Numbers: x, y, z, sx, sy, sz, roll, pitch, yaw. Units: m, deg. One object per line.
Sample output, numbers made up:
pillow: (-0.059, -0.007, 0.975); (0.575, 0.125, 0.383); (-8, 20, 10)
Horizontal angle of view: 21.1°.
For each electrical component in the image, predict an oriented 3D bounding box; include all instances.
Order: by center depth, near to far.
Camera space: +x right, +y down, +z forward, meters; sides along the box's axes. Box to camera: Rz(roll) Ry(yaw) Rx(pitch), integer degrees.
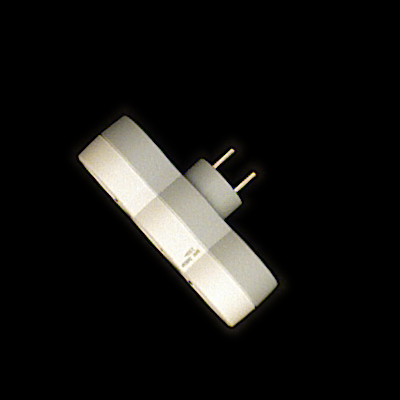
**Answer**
electrical component: (0.000, 0.000, 0.639); (0.074, 0.138, 0.052); (-42, -4, -5)
